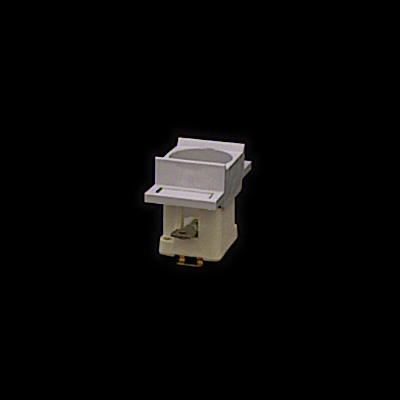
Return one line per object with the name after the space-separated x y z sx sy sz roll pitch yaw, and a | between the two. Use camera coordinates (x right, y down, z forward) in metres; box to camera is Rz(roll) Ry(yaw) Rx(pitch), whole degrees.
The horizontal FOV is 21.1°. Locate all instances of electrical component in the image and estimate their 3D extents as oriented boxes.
0.000 0.000 0.635 0.042 0.064 0.080 8 21 15 | electrical component
